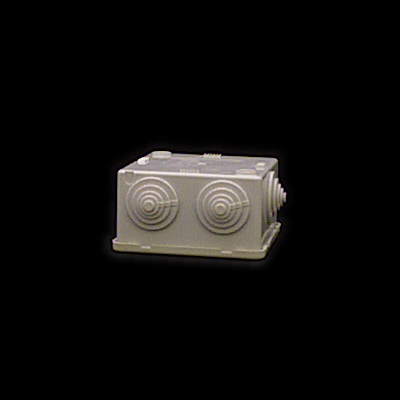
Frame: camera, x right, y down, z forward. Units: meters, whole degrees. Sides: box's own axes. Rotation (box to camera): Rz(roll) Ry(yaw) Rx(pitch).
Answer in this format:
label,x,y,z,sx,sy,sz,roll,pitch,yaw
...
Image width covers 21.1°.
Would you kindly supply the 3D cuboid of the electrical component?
label,x,y,z,sx,sy,sz,roll,pitch,yaw
electrical component,0.000,0.000,0.645,0.099,0.049,0.099,3,11,10
